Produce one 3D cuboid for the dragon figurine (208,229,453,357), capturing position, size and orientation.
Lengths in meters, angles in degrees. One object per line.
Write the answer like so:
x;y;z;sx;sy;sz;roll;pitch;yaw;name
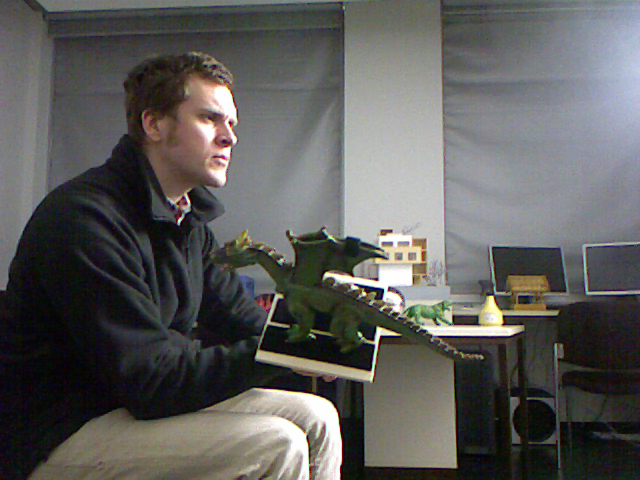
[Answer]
0.026;0.076;0.820;0.412;0.125;0.238;11;-34;8;dragon figurine
